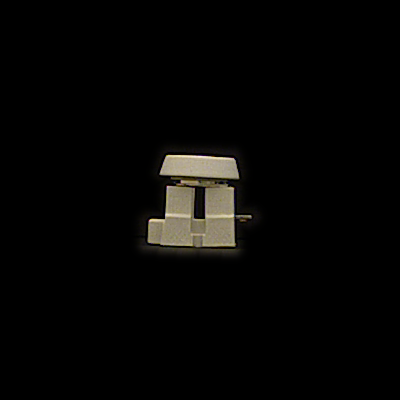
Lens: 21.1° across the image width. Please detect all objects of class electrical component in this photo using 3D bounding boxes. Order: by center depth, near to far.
[{"bbox_3d":[0.000,0.000,0.658,0.066,0.055,0.048,1,4,0],"label":"electrical component"}]
